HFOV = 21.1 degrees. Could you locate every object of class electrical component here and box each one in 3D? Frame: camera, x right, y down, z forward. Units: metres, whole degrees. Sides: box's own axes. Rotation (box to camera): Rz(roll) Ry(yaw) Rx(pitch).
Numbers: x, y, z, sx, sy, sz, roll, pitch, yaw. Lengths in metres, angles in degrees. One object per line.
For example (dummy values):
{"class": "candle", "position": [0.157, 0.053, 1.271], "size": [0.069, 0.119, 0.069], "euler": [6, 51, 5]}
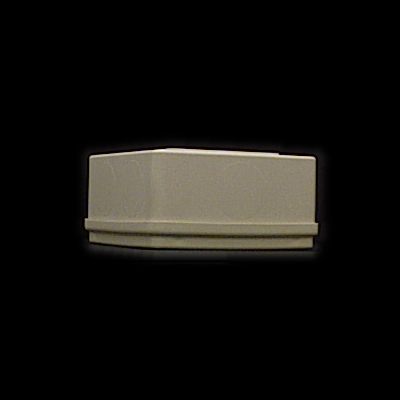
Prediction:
{"class": "electrical component", "position": [0.000, 0.000, 0.646], "size": [0.109, 0.056, 0.108], "euler": [1, 0, -27]}
